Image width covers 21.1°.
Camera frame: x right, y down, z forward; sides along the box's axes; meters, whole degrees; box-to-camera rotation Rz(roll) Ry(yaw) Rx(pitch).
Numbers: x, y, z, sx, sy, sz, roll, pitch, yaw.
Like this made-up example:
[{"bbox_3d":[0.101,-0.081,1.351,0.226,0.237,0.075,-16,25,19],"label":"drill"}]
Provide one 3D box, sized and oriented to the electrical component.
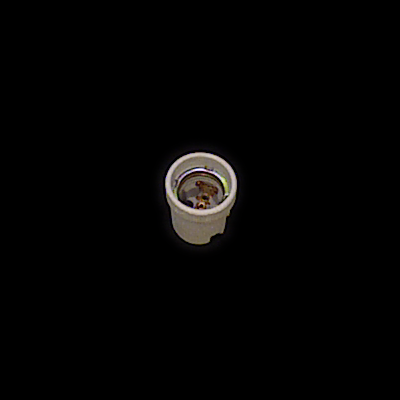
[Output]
[{"bbox_3d":[0.000,0.000,0.627,0.040,0.040,0.046,0,-27,0],"label":"electrical component"}]
